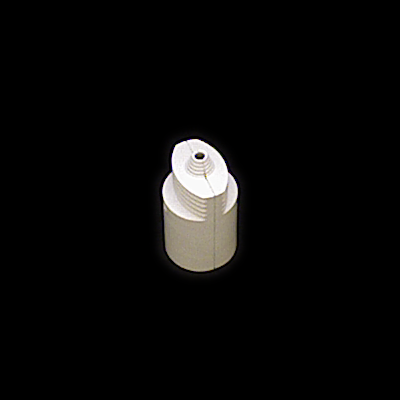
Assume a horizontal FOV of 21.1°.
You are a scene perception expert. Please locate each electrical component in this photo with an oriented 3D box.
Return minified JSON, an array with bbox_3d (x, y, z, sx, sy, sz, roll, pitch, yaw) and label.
[{"bbox_3d":[0.000,0.000,0.620,0.043,0.043,0.081,0,-38,0],"label":"electrical component"}]
